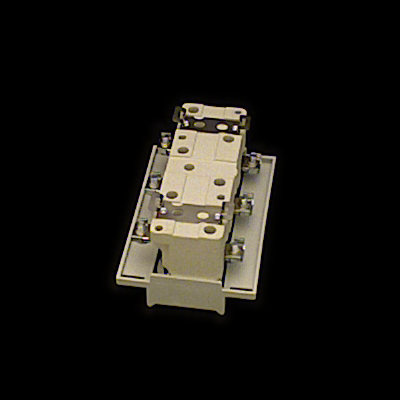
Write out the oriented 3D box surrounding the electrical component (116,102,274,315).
[{"bbox_3d":[0.000,0.000,0.638,0.078,0.063,0.120,6,43,5],"label":"electrical component"}]
